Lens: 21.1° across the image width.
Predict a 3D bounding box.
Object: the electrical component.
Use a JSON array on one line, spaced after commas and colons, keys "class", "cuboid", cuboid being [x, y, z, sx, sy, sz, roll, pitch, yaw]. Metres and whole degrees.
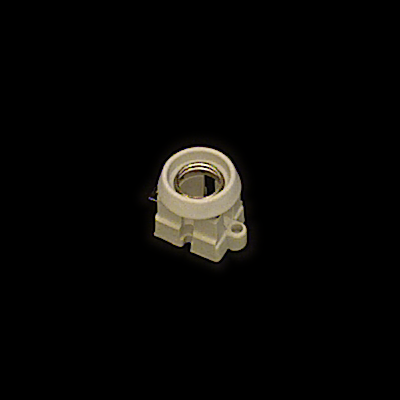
[{"class": "electrical component", "cuboid": [0.000, 0.000, 0.638, 0.066, 0.048, 0.055, 21, -36, 15]}]
